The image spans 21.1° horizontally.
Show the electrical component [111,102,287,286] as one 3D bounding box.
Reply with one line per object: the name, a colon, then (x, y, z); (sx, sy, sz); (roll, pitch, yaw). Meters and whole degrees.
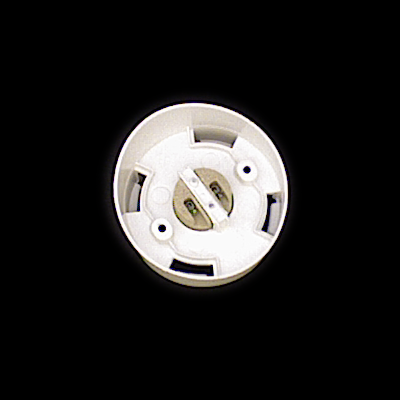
electrical component: (0.000, 0.000, 0.623); (0.099, 0.099, 0.064); (0, -17, 1)
